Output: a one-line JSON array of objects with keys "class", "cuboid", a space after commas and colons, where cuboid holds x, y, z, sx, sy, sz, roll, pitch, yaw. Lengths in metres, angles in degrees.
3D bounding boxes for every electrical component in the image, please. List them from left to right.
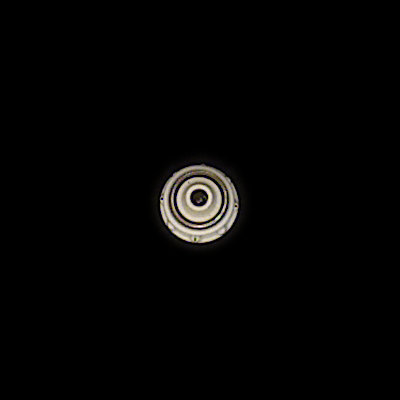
[{"class": "electrical component", "cuboid": [0.000, 0.000, 0.635, 0.048, 0.048, 0.062, 0, -5, 0]}]
